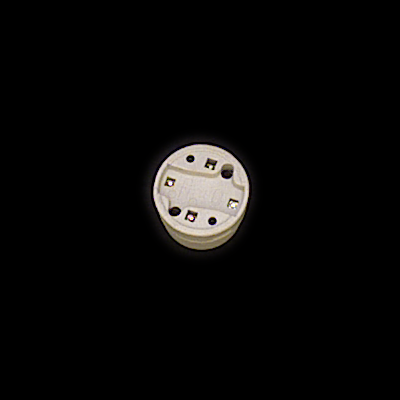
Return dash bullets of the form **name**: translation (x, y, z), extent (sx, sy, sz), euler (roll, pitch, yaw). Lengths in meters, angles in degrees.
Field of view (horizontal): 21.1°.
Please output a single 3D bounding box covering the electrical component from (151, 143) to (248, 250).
- **electrical component**: translation (0.000, 0.000, 0.634), extent (0.055, 0.056, 0.047), euler (0, -17, 0)
